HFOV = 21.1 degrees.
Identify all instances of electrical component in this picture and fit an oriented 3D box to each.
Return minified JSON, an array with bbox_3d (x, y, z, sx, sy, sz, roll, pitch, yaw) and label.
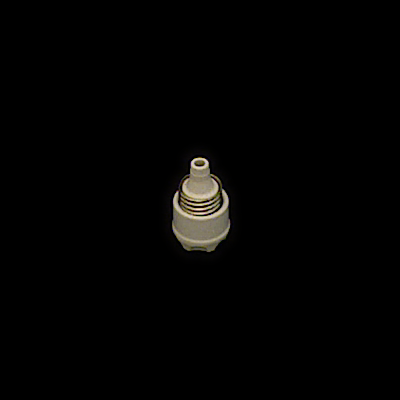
[{"bbox_3d":[0.000,0.000,0.642,0.035,0.062,0.035,-1,43,1],"label":"electrical component"}]
